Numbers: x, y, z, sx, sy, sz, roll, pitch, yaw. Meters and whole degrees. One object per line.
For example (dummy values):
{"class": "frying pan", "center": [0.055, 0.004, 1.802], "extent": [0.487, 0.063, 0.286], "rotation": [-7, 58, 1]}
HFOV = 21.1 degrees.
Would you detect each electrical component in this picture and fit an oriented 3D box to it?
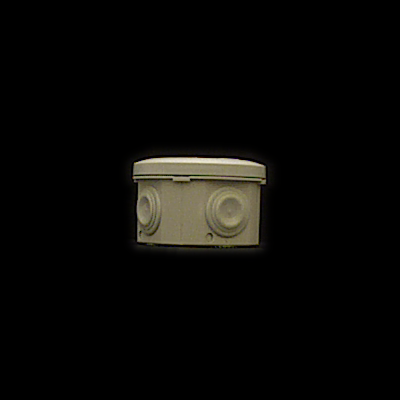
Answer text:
{"class": "electrical component", "center": [0.000, 0.000, 0.647], "extent": [0.080, 0.051, 0.080], "rotation": [1, 0, 0]}
